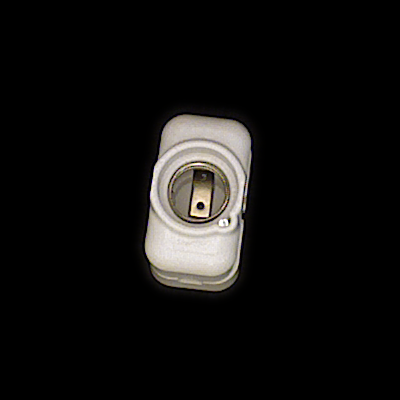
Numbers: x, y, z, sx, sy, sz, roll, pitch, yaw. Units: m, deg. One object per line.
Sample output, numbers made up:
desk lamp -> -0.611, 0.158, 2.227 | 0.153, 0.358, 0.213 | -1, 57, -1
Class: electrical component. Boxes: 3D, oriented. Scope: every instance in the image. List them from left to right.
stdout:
electrical component -> 0.000, 0.000, 0.634 | 0.054, 0.095, 0.059 | 6, -15, 2
